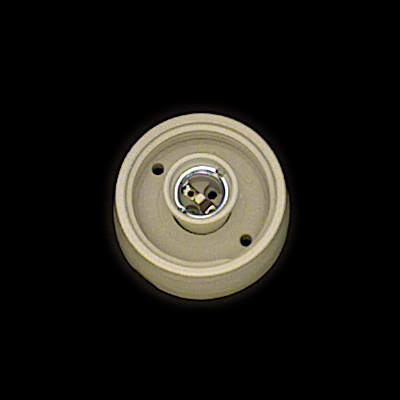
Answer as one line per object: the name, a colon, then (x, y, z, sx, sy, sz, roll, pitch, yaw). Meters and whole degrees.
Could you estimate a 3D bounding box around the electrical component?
electrical component: (0.000, 0.000, 0.633, 0.108, 0.108, 0.060, 0, -16, 0)
